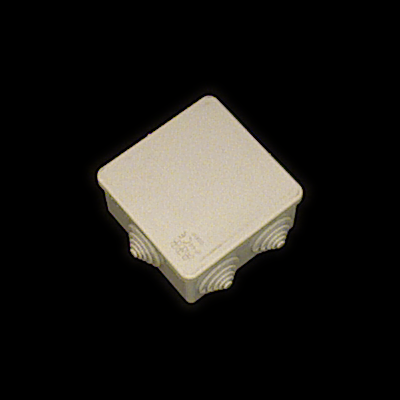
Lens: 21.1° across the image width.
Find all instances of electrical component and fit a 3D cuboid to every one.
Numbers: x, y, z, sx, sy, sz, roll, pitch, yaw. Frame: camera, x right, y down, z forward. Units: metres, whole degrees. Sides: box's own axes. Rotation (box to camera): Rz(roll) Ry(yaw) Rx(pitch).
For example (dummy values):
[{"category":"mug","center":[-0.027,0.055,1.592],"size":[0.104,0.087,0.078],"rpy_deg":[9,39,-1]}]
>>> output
[{"category":"electrical component","center":[0.000,0.000,0.639],"size":[0.100,0.099,0.048],"rpy_deg":[-36,-21,-17]}]
